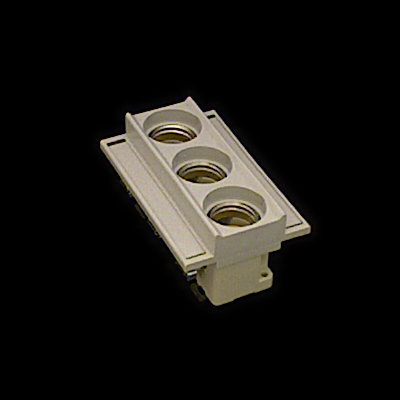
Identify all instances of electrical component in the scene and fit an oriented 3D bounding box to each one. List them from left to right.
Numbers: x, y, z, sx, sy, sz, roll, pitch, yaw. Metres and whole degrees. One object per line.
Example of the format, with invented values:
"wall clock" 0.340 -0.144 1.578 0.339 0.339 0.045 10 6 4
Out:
"electrical component" 0.000 0.000 0.643 0.079 0.064 0.119 -17 45 -20
